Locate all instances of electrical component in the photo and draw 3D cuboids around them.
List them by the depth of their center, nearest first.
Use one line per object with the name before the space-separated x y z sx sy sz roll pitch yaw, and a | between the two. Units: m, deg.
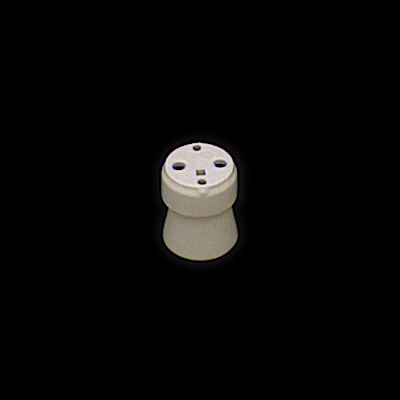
electrical component | 0.000 0.000 0.632 0.045 0.055 0.044 0 42 0
